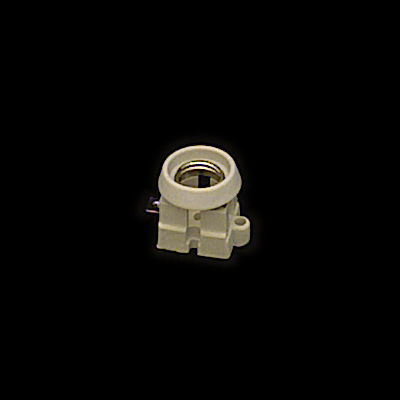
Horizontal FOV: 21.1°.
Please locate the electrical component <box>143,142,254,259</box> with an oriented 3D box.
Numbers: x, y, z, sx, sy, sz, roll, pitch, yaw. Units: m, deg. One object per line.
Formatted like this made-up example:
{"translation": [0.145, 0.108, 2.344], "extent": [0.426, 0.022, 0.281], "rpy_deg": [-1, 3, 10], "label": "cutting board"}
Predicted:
{"translation": [0.000, 0.000, 0.639], "extent": [0.066, 0.056, 0.048], "rpy_deg": [8, 41, 7], "label": "electrical component"}
